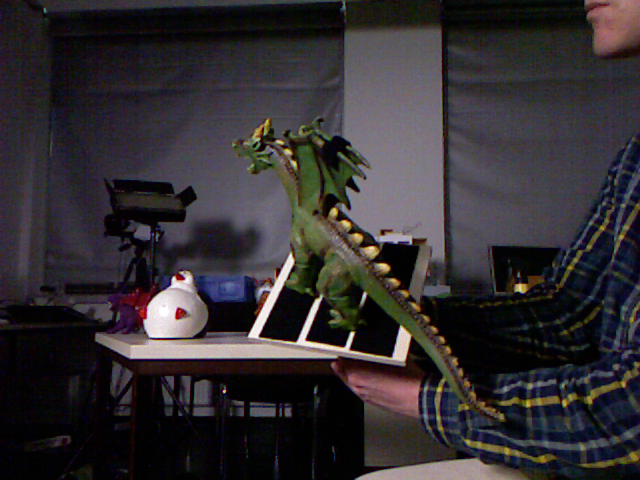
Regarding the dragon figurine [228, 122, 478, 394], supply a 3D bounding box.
[{"bbox_3d":[0.024,-0.018,0.596,0.124,0.237,0.417,-36,48,-22],"label":"dragon figurine"}]
